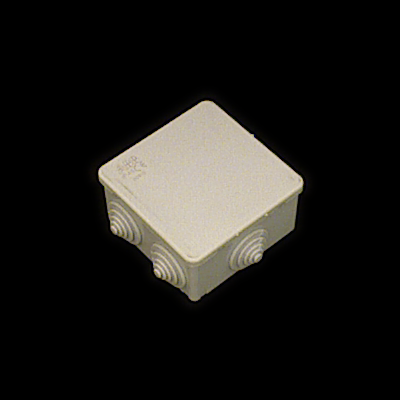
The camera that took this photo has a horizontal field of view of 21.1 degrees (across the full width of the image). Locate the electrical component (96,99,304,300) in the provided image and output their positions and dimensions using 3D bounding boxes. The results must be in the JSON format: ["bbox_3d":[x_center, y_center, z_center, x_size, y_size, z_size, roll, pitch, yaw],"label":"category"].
[{"bbox_3d":[0.000,0.000,0.640,0.100,0.099,0.048,-35,-29,-23],"label":"electrical component"}]
